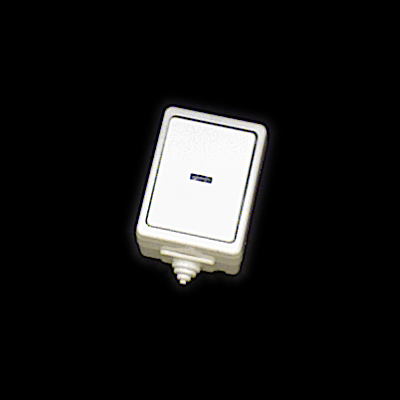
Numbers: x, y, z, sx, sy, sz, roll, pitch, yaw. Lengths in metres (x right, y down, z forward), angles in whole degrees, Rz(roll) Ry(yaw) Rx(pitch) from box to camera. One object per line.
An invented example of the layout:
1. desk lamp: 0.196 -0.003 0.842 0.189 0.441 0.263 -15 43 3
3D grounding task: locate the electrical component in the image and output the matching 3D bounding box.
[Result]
1. electrical component: 0.000 0.000 0.625 0.062 0.097 0.060 12 -17 4
